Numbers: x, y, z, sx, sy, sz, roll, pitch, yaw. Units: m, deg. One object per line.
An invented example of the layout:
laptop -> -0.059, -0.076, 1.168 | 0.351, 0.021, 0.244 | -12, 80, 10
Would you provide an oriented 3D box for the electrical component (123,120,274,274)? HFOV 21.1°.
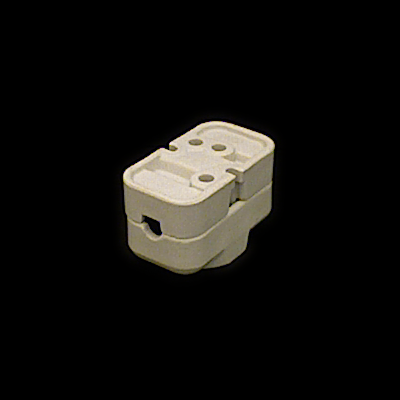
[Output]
electrical component -> 0.000, 0.000, 0.641 | 0.053, 0.060, 0.095 | 22, 38, 30
